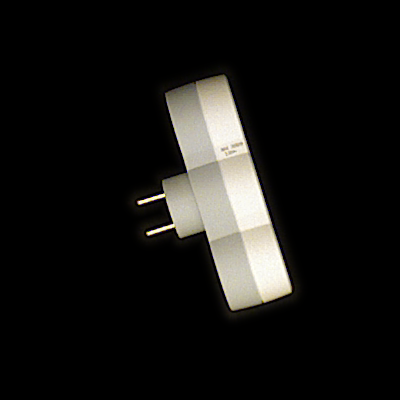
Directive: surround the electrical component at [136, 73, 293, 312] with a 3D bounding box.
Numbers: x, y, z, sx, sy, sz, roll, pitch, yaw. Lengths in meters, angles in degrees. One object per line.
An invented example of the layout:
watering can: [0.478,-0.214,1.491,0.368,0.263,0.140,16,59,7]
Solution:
electrical component: [0.000,0.000,0.639,0.074,0.138,0.052,-17,-5,0]
